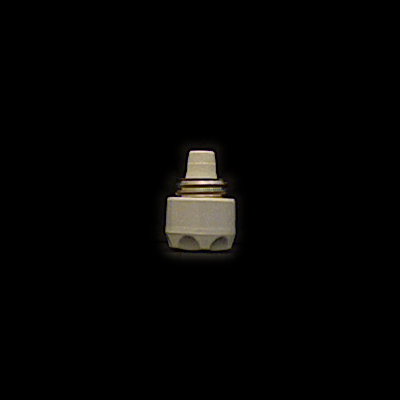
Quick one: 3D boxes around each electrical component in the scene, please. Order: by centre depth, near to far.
[{"bbox_3d":[0.000,0.000,0.657,0.043,0.062,0.043,1,1,1],"label":"electrical component"}]
